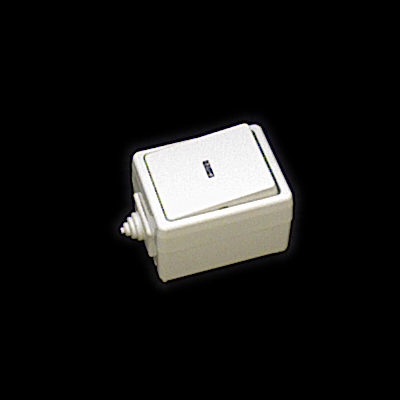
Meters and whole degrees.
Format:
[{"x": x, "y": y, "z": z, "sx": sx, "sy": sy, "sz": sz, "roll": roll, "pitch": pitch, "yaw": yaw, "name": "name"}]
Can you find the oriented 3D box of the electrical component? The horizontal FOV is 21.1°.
[{"x": 0.000, "y": 0.000, "z": 0.627, "sx": 0.096, "sy": 0.061, "sz": 0.061, "roll": -14, "pitch": -36, "yaw": -11, "name": "electrical component"}]
